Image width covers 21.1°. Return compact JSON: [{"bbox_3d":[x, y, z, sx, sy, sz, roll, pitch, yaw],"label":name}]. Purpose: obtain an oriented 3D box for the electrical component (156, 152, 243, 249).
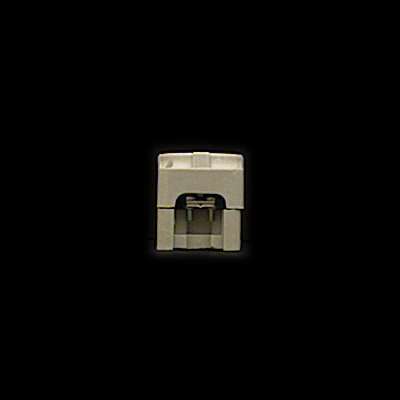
[{"bbox_3d":[0.000,0.000,0.656,0.050,0.056,0.089,1,0,-1],"label":"electrical component"}]
